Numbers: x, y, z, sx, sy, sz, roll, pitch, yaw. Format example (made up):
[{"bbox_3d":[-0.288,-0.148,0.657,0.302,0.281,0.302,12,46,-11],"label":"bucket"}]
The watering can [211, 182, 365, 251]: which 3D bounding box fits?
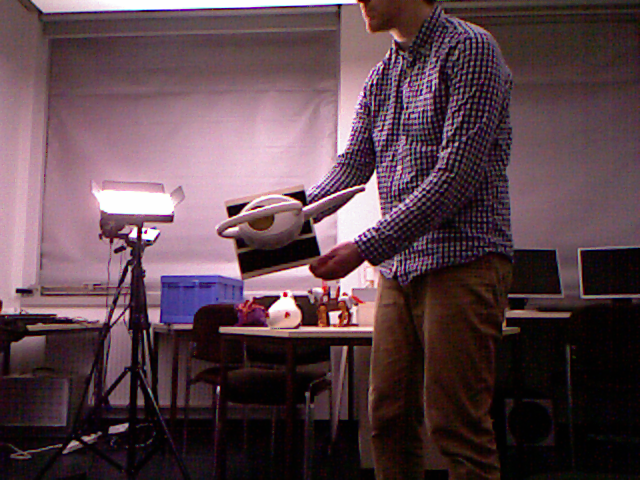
[{"bbox_3d":[-0.071,-0.052,1.186,0.348,0.105,0.222,-14,-10,-4],"label":"watering can"}]
